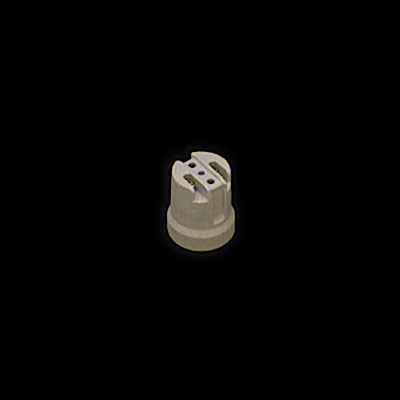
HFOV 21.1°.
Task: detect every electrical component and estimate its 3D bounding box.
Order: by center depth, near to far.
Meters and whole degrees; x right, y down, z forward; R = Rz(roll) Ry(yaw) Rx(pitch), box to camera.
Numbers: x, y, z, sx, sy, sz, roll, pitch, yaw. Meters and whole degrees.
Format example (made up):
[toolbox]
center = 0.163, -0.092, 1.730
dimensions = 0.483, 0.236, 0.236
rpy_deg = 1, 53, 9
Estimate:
[electrical component]
center = 0.000, 0.000, 0.634
dimensions = 0.040, 0.046, 0.040
rpy_deg = 0, 42, 0
